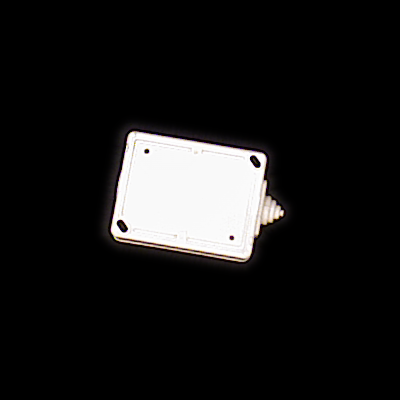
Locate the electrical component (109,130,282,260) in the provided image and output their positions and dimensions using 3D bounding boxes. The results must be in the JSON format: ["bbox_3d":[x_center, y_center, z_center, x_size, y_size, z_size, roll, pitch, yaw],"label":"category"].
[{"bbox_3d":[0.000,0.000,0.629,0.096,0.062,0.061,10,-6,1],"label":"electrical component"}]
